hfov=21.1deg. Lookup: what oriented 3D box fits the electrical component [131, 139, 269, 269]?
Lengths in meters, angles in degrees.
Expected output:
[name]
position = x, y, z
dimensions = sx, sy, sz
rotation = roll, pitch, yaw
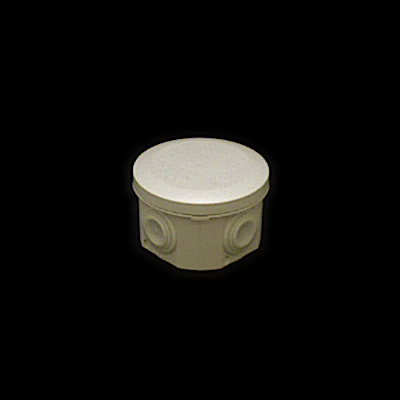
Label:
[electrical component]
position = 0.000, 0.000, 0.637
dimensions = 0.080, 0.051, 0.079
rotation = 1, 31, 0
